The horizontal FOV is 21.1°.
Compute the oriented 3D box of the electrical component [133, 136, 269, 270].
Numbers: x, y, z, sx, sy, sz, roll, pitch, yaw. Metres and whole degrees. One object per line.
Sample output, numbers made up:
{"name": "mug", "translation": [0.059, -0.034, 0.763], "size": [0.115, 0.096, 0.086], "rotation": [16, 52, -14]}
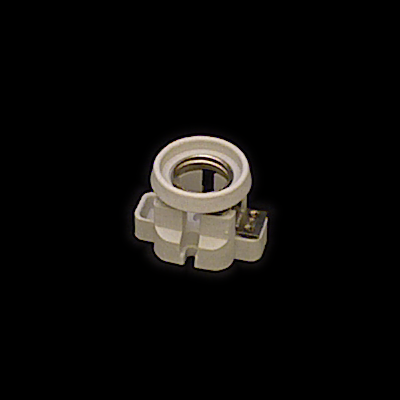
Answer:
{"name": "electrical component", "translation": [0.000, 0.000, 0.632], "size": [0.078, 0.057, 0.057], "rotation": [11, 43, 11]}
